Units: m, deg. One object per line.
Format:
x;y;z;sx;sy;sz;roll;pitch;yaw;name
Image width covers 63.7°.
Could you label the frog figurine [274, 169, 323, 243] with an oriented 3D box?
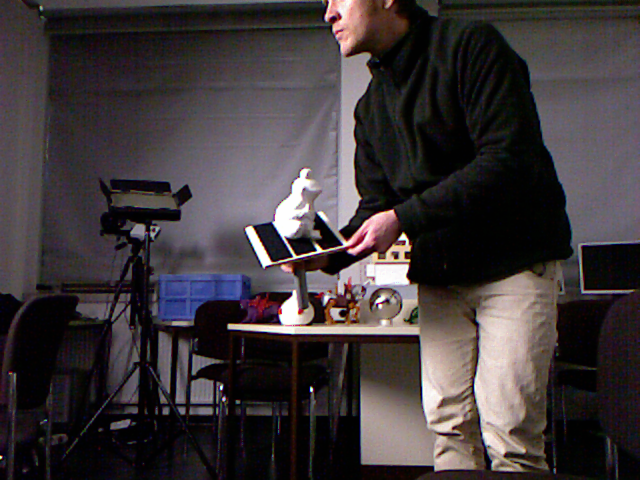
-0.052;-0.082;1.199;0.123;0.156;0.141;-4;32;4;frog figurine
